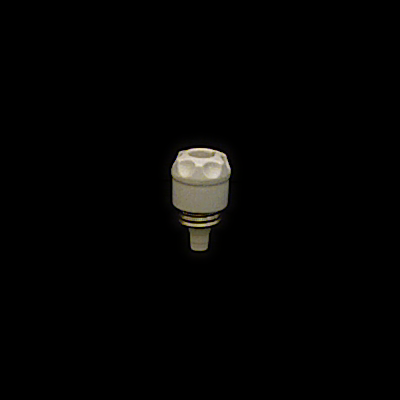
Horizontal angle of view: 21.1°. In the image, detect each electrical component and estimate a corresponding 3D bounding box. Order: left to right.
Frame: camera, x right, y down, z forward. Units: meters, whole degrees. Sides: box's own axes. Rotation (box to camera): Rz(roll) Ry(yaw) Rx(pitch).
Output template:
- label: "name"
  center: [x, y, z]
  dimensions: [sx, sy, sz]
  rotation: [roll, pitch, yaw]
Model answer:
- label: "electrical component"
  center: [0.000, 0.000, 0.646]
  dimensions: [0.035, 0.062, 0.034]
  rotation: [1, 22, 0]
